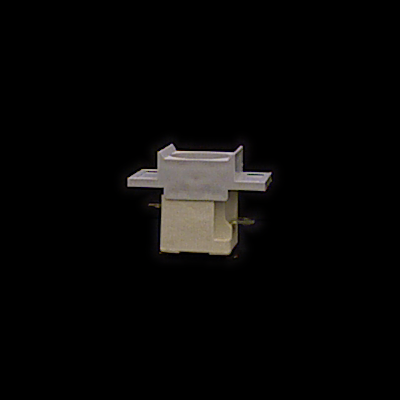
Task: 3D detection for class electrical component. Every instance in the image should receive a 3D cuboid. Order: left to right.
[{"bbox_3d":[0.000,0.000,0.644,0.081,0.064,0.042,2,10,9],"label":"electrical component"}]
